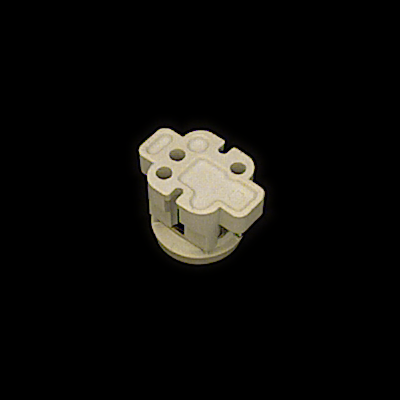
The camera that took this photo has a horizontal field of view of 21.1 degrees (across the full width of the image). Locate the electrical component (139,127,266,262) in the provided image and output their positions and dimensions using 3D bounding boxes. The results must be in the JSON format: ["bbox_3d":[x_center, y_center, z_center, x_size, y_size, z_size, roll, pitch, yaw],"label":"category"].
[{"bbox_3d":[0.000,0.000,0.637,0.078,0.058,0.057,33,-31,20],"label":"electrical component"}]
